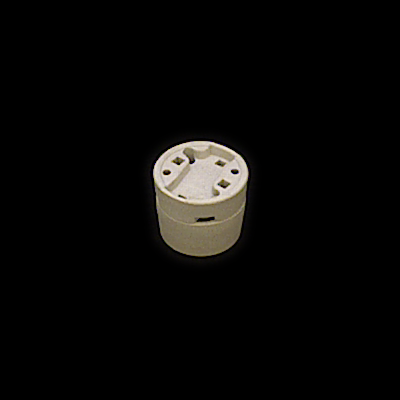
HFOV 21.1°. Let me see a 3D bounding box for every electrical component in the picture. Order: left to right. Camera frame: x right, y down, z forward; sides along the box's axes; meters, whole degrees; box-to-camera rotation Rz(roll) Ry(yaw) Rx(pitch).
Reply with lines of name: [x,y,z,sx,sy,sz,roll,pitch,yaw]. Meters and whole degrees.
electrical component: [0.000,0.000,0.635,0.055,0.047,0.055,0,42,0]
